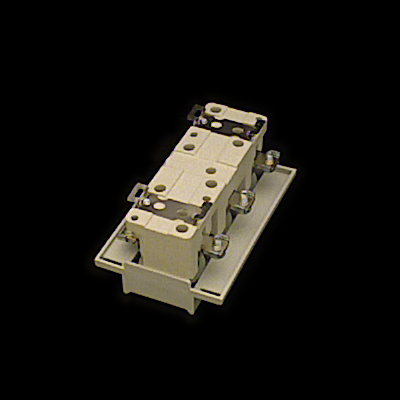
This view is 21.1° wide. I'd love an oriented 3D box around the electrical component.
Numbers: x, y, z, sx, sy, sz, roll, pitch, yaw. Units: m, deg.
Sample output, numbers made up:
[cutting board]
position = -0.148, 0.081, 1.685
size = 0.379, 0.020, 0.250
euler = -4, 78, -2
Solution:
[electrical component]
position = 0.000, 0.000, 0.638
size = 0.078, 0.063, 0.121
euler = 16, 44, 17
